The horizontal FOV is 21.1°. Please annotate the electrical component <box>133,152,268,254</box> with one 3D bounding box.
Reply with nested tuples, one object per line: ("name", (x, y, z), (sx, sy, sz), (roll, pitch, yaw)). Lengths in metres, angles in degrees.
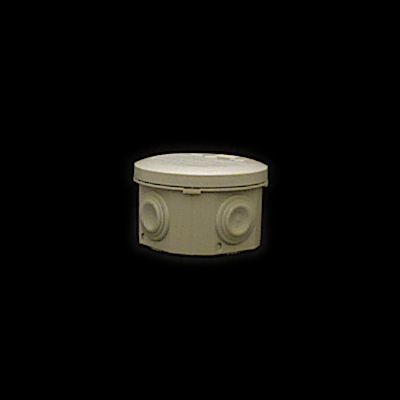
("electrical component", (0.000, 0.000, 0.643), (0.080, 0.051, 0.079), (1, 11, 0))
